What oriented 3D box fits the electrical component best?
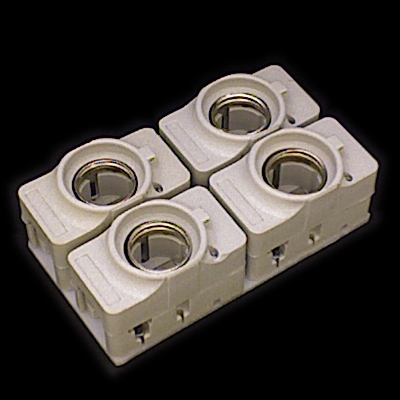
[{"bbox_3d":[0.000,0.000,0.628,0.186,0.105,0.060,-28,-33,-21],"label":"electrical component"}]
